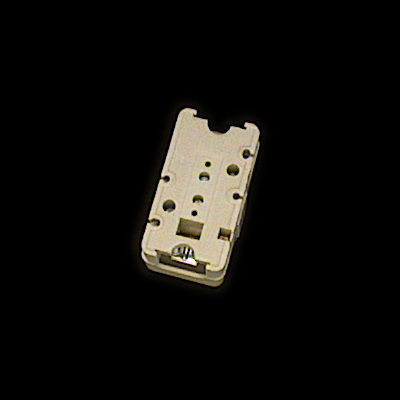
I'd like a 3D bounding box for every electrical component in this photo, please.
[{"bbox_3d":[0.000,0.000,0.636,0.050,0.090,0.055,14,-15,4],"label":"electrical component"}]
